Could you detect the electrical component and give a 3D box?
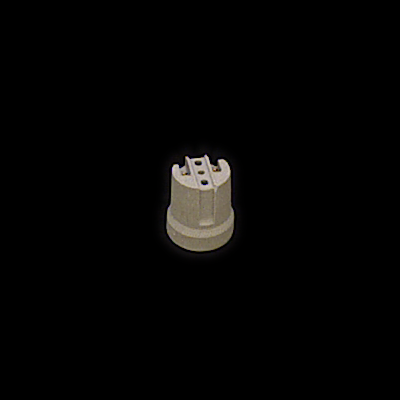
[{"bbox_3d":[0.000,0.000,0.637,0.040,0.046,0.040,1,42,-1],"label":"electrical component"}]
